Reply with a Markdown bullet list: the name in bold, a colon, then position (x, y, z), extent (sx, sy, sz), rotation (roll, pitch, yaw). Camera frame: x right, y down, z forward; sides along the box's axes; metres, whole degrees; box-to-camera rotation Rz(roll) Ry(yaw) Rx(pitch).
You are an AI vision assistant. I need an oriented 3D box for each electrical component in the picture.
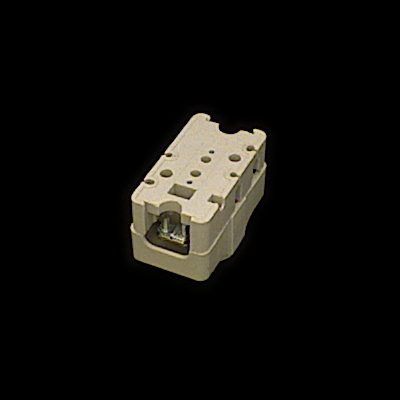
- **electrical component**: position (0.000, 0.000, 0.639), extent (0.050, 0.056, 0.089), rotation (18, 46, 18)
